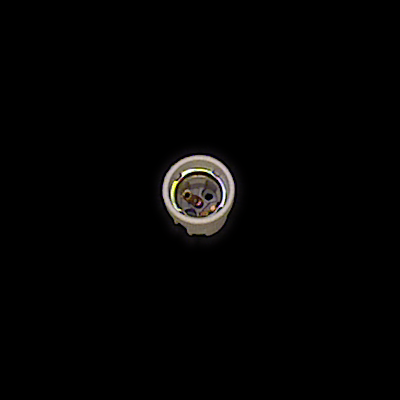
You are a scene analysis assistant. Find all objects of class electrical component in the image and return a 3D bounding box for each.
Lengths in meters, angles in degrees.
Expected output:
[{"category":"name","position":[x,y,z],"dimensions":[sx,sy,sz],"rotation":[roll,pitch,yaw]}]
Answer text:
[{"category":"electrical component","position":[0.000,0.000,0.626],"dimensions":[0.040,0.040,0.046],"rotation":[0,-16,0]}]
